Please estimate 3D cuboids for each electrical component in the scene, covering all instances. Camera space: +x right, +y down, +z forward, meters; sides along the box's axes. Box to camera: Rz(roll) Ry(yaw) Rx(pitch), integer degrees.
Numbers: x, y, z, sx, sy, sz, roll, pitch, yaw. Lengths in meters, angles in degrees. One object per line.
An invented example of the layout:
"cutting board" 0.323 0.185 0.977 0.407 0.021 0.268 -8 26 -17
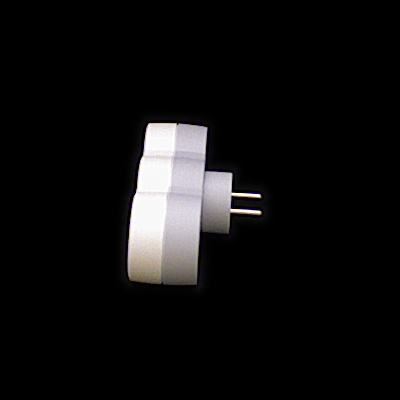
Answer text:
"electrical component" 0.000 0.000 0.639 0.074 0.053 0.136 3 31 0
